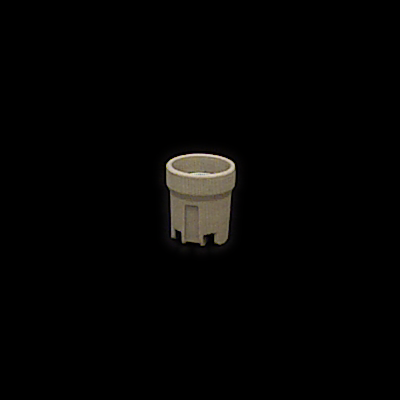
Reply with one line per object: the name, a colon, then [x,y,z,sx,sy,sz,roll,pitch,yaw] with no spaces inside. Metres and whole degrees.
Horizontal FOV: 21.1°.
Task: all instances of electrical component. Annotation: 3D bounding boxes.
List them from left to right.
electrical component: [0.000,0.000,0.638,0.040,0.047,0.039,1,21,0]
